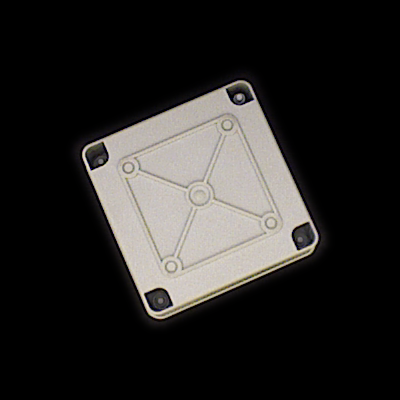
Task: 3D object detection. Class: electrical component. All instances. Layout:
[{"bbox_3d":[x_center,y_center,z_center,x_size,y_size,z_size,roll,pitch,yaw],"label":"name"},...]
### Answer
[{"bbox_3d":[0.000,0.000,0.629,0.109,0.109,0.056,-23,-6,-3],"label":"electrical component"}]
